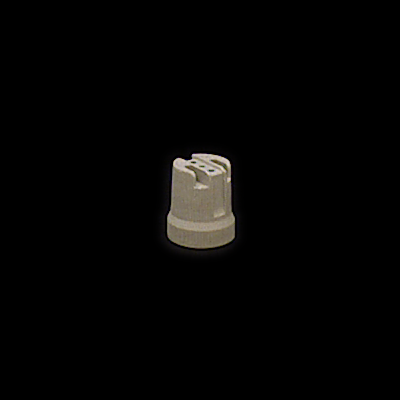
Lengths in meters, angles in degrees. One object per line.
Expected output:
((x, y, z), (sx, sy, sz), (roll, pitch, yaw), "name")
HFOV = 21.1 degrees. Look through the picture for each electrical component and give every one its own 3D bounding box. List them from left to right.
((0.000, 0.000, 0.640), (0.040, 0.046, 0.040), (0, 21, 0), "electrical component")
